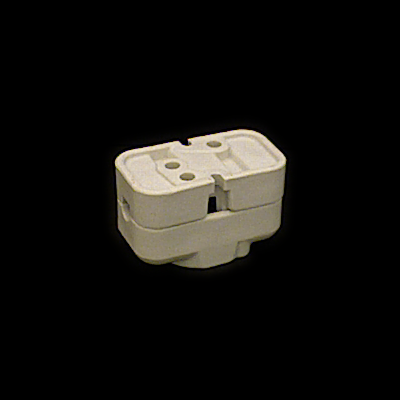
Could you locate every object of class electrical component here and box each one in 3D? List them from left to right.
[{"bbox_3d":[0.000,0.000,0.640,0.095,0.060,0.053,-12,35,-21],"label":"electrical component"}]
